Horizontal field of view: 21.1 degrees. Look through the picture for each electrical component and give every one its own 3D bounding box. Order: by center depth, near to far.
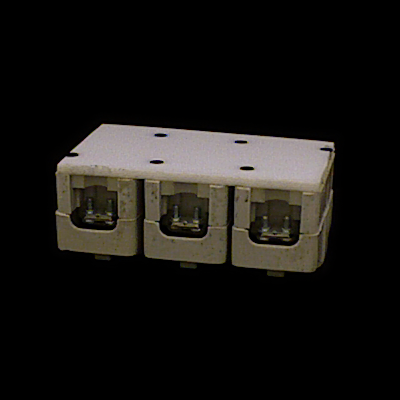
[{"bbox_3d":[0.000,0.000,0.643,0.150,0.063,0.088,5,21,11],"label":"electrical component"}]
